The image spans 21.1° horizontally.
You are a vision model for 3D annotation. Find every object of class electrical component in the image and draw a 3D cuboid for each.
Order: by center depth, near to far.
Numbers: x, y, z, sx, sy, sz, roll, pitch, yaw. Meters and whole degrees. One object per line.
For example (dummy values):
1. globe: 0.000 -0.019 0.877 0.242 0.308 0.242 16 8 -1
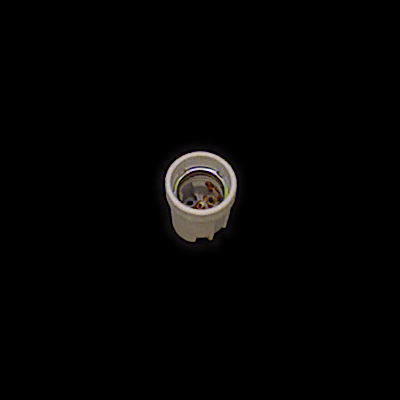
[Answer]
1. electrical component: 0.000 0.000 0.627 0.040 0.040 0.046 0 -27 0
